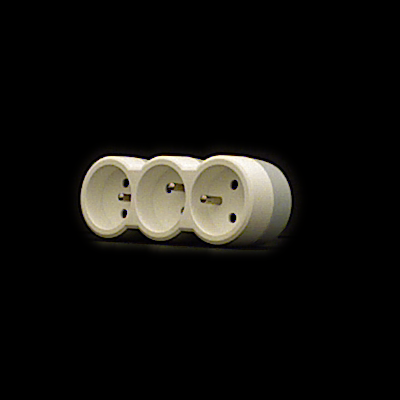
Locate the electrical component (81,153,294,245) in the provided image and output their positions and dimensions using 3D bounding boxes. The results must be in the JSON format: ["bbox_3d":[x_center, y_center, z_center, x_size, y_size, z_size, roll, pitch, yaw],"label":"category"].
[{"bbox_3d":[0.000,0.000,0.658,0.137,0.052,0.074,2,0,40],"label":"electrical component"}]
